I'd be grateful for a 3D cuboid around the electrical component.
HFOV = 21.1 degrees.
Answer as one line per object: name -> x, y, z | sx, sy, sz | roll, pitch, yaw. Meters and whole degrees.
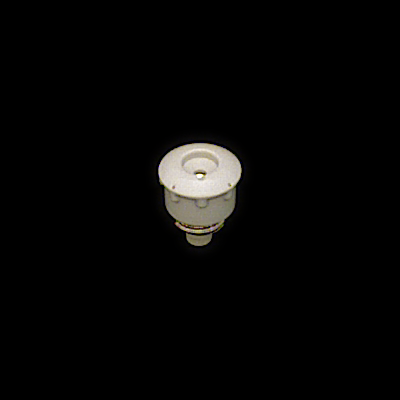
electrical component -> 0.000, 0.000, 0.637 | 0.048, 0.062, 0.047 | 0, 43, 0
